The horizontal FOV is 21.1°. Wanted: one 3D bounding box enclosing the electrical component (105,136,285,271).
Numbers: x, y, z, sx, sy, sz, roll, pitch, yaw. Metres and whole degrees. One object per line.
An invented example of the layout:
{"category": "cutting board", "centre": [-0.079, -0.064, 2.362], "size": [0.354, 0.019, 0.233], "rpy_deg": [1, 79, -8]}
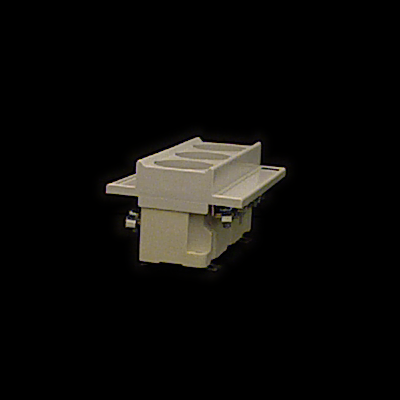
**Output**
{"category": "electrical component", "centre": [0.000, 0.000, 0.658], "size": [0.078, 0.063, 0.120], "rpy_deg": [6, 12, 15]}
